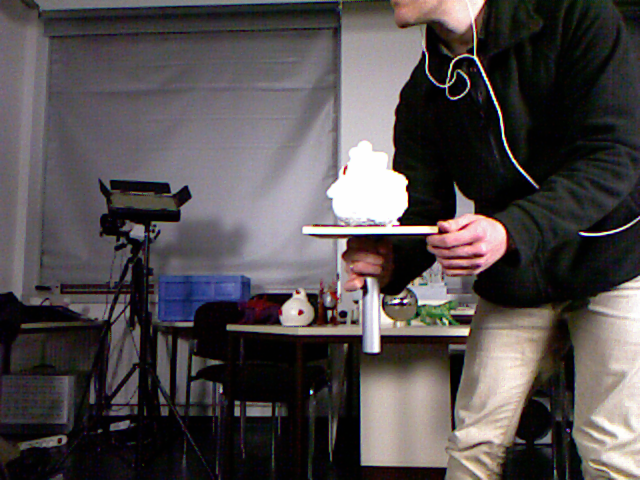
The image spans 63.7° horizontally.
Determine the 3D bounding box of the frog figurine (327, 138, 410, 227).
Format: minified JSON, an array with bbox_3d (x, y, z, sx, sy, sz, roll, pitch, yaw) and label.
[{"bbox_3d":[0.083,-0.096,0.871,0.137,0.160,0.123,0,0,30],"label":"frog figurine"}]
